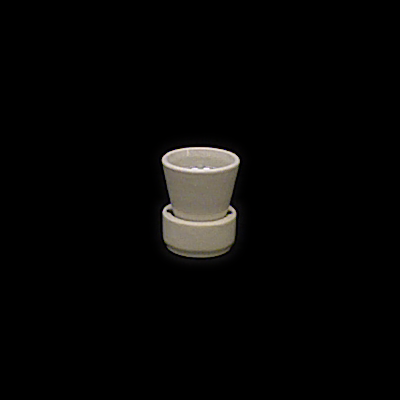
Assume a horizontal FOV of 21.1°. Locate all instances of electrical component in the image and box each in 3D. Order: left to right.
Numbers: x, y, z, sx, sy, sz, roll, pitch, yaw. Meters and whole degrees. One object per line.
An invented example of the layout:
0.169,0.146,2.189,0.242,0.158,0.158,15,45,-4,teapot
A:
0.000,0.000,0.638,0.045,0.056,0.044,1,22,0,electrical component
